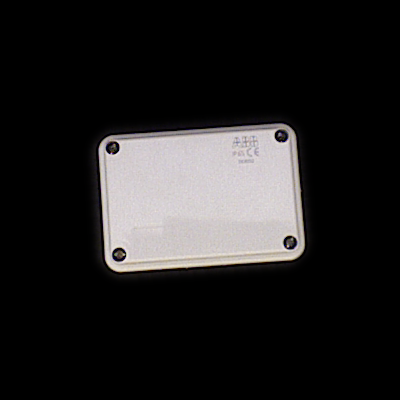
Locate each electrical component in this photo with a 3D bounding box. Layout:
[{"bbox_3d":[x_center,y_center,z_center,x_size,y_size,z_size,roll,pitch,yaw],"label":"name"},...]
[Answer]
[{"bbox_3d":[0.000,0.000,0.628,0.113,0.078,0.057,-4,-7,0],"label":"electrical component"}]
